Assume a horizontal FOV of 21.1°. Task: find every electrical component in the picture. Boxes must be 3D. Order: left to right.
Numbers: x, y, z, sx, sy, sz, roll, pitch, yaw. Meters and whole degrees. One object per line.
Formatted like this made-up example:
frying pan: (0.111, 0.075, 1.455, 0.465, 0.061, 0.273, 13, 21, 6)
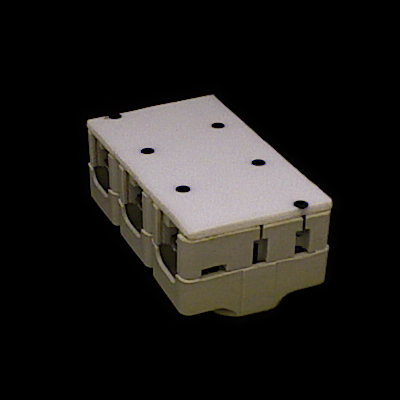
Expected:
electrical component: (0.000, 0.000, 0.639, 0.089, 0.063, 0.147, -13, 34, -22)
